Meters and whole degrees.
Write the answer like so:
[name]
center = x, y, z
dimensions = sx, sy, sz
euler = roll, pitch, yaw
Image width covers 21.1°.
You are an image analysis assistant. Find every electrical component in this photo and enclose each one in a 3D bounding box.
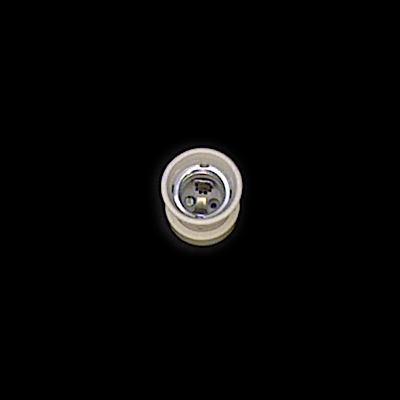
[electrical component]
center = 0.000, 0.000, 0.628
dimensions = 0.045, 0.045, 0.055
euler = 0, -17, 0
